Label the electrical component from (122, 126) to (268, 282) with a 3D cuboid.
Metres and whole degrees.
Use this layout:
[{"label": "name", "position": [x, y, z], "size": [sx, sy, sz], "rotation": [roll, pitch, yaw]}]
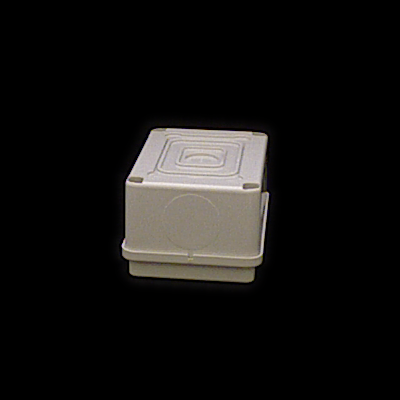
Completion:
[{"label": "electrical component", "position": [0.000, 0.000, 0.639], "size": [0.078, 0.058, 0.112], "rotation": [3, 21, 5]}]
